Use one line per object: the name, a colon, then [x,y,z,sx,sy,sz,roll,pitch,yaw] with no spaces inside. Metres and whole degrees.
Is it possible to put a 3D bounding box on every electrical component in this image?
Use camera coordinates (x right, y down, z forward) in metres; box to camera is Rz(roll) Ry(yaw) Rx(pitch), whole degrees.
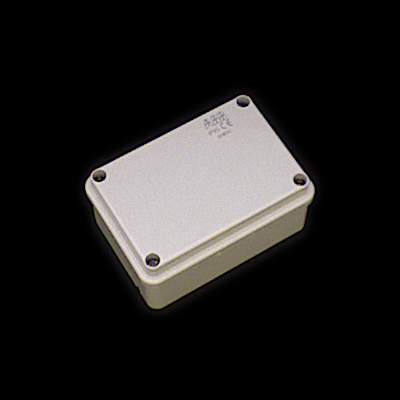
electrical component: [0.000,0.000,0.628,0.113,0.078,0.057,-28,-23,-14]
